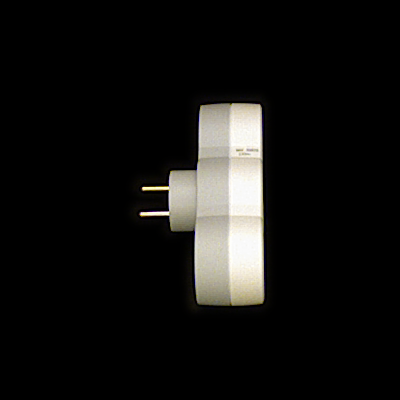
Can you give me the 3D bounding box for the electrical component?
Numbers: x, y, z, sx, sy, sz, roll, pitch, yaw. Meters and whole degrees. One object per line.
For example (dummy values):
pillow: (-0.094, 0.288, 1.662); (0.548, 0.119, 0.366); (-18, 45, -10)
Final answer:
electrical component: (0.000, 0.000, 0.639); (0.074, 0.137, 0.052); (0, -37, 2)
